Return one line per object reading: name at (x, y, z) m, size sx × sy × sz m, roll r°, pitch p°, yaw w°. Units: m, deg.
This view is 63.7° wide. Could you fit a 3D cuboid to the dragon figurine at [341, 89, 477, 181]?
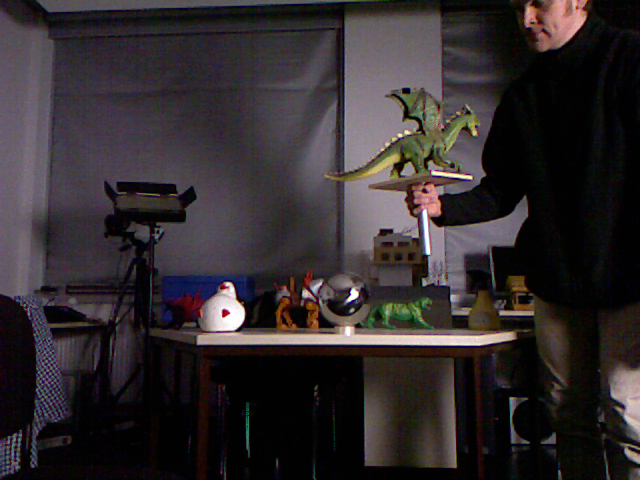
dragon figurine at (0.253, -0.291, 1.418) m, size 0.412 × 0.243 × 0.122 m, roll -5°, pitch 2°, yaw -13°
